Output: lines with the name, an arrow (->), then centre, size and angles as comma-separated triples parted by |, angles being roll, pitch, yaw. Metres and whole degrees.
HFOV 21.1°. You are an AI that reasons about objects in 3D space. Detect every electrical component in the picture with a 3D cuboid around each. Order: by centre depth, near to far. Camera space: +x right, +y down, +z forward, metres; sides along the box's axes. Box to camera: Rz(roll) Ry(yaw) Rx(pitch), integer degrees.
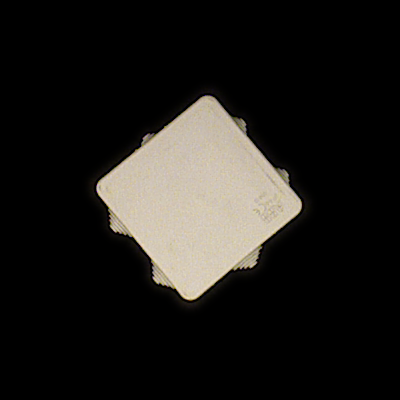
electrical component -> 0.000, 0.000, 0.642 | 0.100, 0.100, 0.048 | -39, -5, -4
